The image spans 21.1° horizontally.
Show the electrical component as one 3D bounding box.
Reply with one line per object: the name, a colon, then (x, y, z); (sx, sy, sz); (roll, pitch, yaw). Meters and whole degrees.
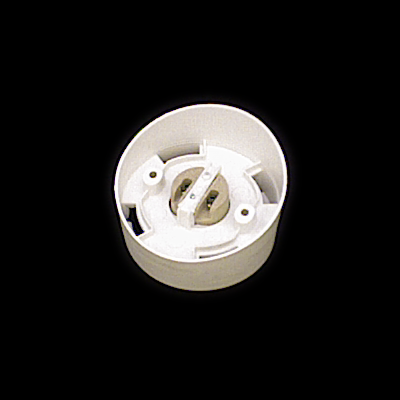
electrical component: (0.000, 0.000, 0.626); (0.099, 0.098, 0.064); (0, -38, -1)
